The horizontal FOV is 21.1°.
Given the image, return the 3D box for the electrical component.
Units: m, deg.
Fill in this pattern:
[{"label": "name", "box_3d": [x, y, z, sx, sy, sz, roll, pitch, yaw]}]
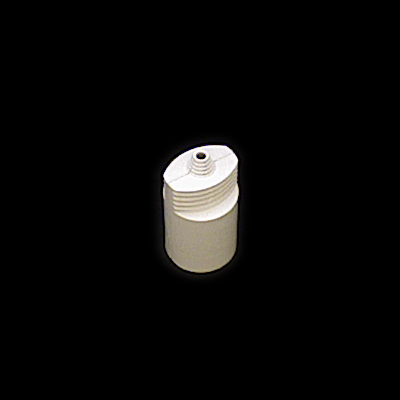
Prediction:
[{"label": "electrical component", "box_3d": [0.000, 0.000, 0.620, 0.043, 0.043, 0.081, 0, -38, 0]}]
